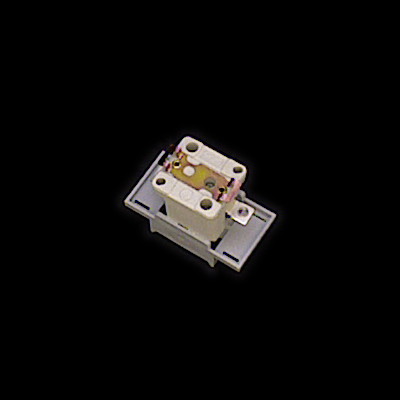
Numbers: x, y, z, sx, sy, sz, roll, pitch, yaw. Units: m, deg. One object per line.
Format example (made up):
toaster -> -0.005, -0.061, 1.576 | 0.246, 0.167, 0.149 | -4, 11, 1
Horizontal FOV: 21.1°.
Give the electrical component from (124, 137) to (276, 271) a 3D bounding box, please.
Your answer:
electrical component -> 0.000, 0.000, 0.625 | 0.081, 0.042, 0.063 | 29, -23, 14
